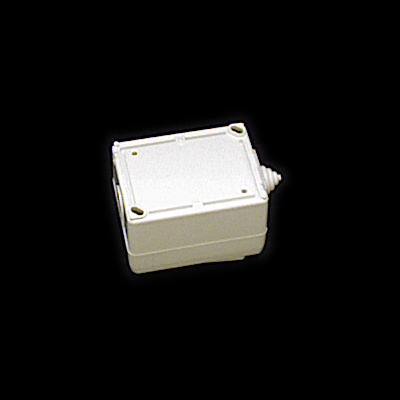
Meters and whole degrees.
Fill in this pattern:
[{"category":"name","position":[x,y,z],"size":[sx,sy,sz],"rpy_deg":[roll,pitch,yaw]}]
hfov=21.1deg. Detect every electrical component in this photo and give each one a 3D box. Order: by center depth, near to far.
[{"category":"electrical component","position":[0.000,0.000,0.630],"size":[0.096,0.061,0.061],"rpy_deg":[-9,-38,-8]}]
